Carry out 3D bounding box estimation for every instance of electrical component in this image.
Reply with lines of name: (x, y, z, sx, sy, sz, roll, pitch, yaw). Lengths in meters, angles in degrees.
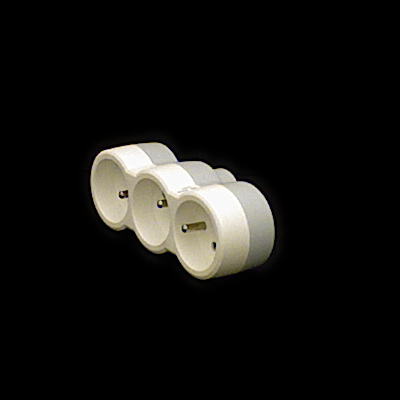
electrical component: (0.000, 0.000, 0.648, 0.074, 0.053, 0.136, -13, 26, -35)
